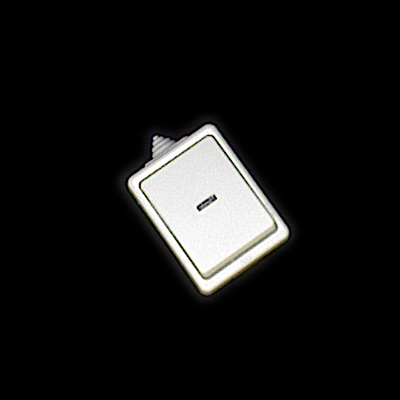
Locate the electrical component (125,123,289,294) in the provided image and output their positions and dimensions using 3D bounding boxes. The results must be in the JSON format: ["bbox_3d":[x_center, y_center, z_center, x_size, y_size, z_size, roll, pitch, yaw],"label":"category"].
[{"bbox_3d":[0.000,0.000,0.627,0.062,0.096,0.061,-35,-6,-3],"label":"electrical component"}]
